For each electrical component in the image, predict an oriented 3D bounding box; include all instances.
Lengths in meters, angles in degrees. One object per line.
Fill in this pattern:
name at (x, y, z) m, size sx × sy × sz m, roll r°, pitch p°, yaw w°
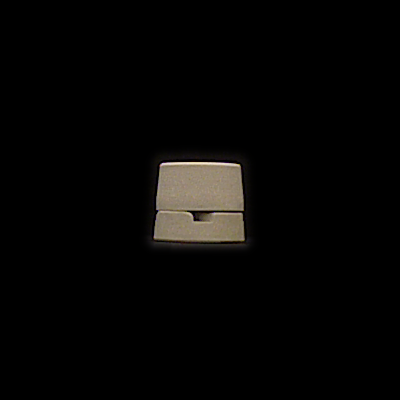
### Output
electrical component at (0.000, 0.000, 0.651) m, size 0.055 × 0.047 × 0.055 m, roll 1°, pitch 0°, yaw 0°
